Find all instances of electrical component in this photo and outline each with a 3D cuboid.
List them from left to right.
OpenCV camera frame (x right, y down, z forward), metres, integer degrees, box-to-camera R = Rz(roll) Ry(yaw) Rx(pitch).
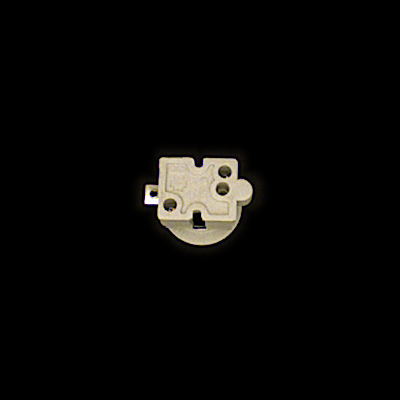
[{"bbox_3d":[0.000,0.000,0.638,0.066,0.048,0.055,2,-15,1],"label":"electrical component"}]
